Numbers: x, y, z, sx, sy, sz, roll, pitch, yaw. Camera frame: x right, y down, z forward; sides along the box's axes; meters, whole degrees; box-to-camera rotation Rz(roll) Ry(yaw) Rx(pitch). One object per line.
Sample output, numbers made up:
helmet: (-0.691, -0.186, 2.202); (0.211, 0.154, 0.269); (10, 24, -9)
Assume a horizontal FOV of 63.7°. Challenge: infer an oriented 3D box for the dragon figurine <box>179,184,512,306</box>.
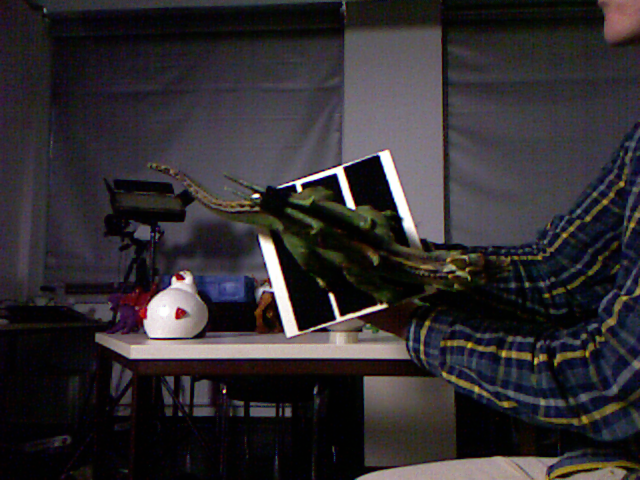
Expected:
dragon figurine: (-0.008, -0.015, 0.561); (0.412, 0.123, 0.242); (16, -5, 8)
